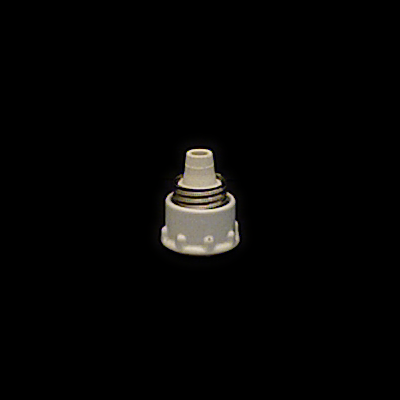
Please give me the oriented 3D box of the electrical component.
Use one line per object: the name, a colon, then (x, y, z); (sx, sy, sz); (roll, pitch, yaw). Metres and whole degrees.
electrical component: (0.000, 0.000, 0.645); (0.048, 0.063, 0.047); (0, 21, 1)
